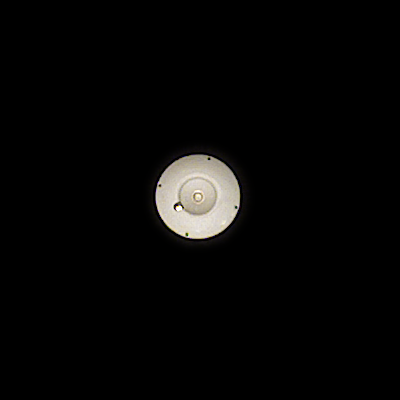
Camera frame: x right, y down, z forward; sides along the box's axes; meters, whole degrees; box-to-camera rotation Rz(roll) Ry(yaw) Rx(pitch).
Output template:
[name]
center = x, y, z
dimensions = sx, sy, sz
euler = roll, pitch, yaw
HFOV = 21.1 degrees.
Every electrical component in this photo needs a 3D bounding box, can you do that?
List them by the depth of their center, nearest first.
[electrical component]
center = 0.000, 0.000, 0.634
dimensions = 0.048, 0.048, 0.061
euler = 0, -6, 1
